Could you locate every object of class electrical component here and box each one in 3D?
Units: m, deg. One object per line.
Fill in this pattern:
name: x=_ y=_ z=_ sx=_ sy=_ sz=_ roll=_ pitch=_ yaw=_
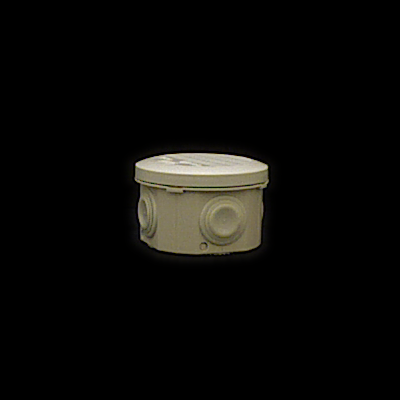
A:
electrical component: x=0.000 y=0.000 z=0.647 sx=0.080 sy=0.051 sz=0.079 roll=1 pitch=10 yaw=0
